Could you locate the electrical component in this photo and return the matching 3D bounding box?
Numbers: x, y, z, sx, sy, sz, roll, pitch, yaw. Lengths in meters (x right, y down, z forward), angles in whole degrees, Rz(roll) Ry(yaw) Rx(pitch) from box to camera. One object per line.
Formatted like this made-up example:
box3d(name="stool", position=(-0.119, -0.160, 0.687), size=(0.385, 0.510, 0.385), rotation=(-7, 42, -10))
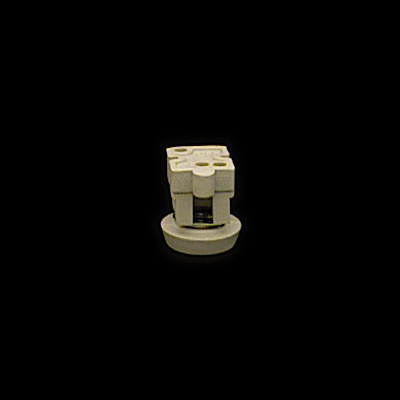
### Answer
box3d(name="electrical component", position=(0.000, 0.000, 0.646), size=(0.048, 0.056, 0.065), rotation=(-2, 21, -5))
